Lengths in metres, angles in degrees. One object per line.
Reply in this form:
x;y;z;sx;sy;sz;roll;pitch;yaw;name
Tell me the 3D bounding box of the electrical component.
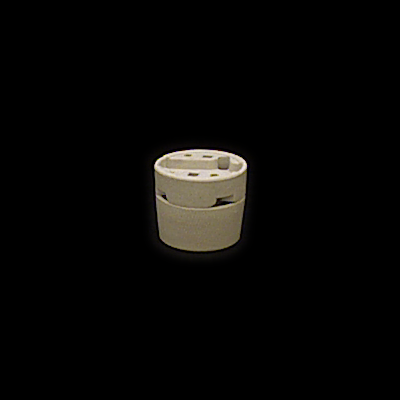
0.000;0.000;0.641;0.055;0.047;0.055;1;21;0;electrical component
